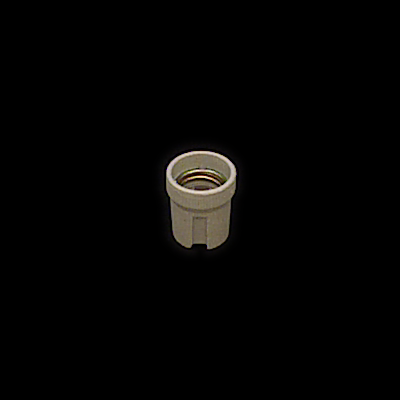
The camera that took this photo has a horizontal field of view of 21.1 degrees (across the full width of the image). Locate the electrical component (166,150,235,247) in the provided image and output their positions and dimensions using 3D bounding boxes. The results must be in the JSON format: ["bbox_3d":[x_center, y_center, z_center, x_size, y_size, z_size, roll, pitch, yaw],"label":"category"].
[{"bbox_3d":[0.000,0.000,0.635,0.040,0.047,0.039,1,42,0],"label":"electrical component"}]
